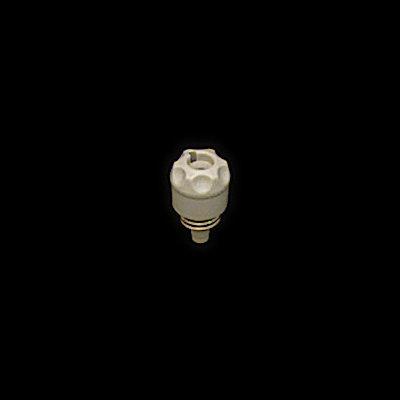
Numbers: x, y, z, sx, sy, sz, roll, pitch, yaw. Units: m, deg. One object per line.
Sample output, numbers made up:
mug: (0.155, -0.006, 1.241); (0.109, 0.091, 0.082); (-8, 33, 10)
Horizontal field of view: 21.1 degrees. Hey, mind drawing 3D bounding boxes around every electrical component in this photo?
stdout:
electrical component: (0.000, 0.000, 0.639); (0.035, 0.062, 0.035); (1, 42, 0)
